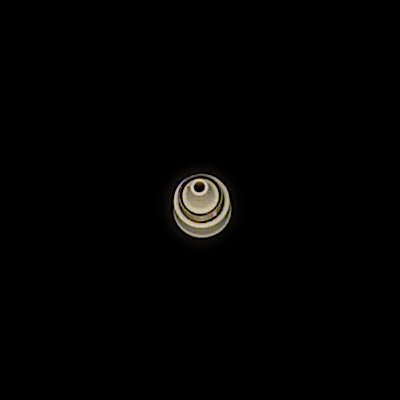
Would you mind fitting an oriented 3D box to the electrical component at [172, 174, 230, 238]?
[{"bbox_3d":[0.000,0.000,0.636,0.035,0.035,0.061,0,-16,3],"label":"electrical component"}]
